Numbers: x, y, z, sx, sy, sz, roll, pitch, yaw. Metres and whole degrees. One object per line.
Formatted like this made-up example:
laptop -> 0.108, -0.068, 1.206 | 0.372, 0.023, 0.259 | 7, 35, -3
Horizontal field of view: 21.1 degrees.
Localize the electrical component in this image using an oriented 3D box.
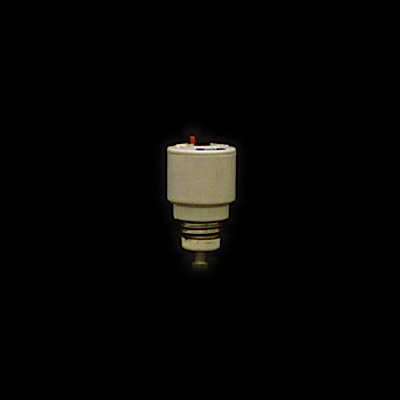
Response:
electrical component -> 0.000, 0.000, 0.645 | 0.040, 0.079, 0.040 | 1, 11, 0
